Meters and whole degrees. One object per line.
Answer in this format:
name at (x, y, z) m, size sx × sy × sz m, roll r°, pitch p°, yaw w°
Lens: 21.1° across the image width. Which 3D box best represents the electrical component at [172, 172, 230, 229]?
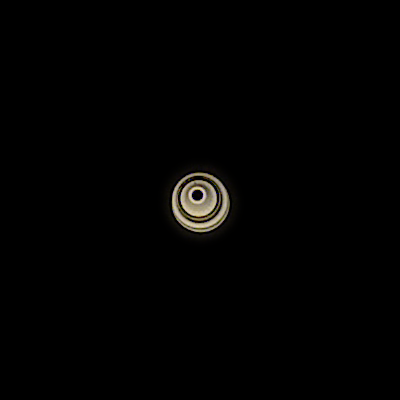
electrical component at (0.000, 0.000, 0.637) m, size 0.035 × 0.035 × 0.061 m, roll 0°, pitch -6°, yaw 2°
